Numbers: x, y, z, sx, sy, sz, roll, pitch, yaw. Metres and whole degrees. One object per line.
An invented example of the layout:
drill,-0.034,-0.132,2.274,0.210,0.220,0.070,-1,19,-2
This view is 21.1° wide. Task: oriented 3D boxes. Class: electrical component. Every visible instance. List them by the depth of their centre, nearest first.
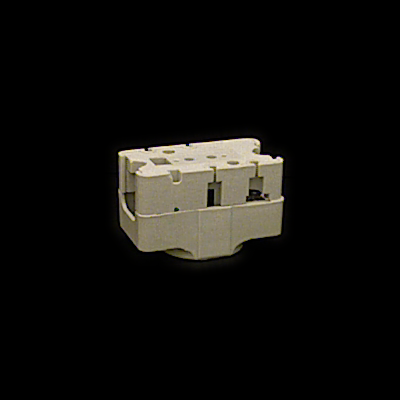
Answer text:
electrical component,0.000,0.000,0.646,0.090,0.056,0.049,-7,24,-19
